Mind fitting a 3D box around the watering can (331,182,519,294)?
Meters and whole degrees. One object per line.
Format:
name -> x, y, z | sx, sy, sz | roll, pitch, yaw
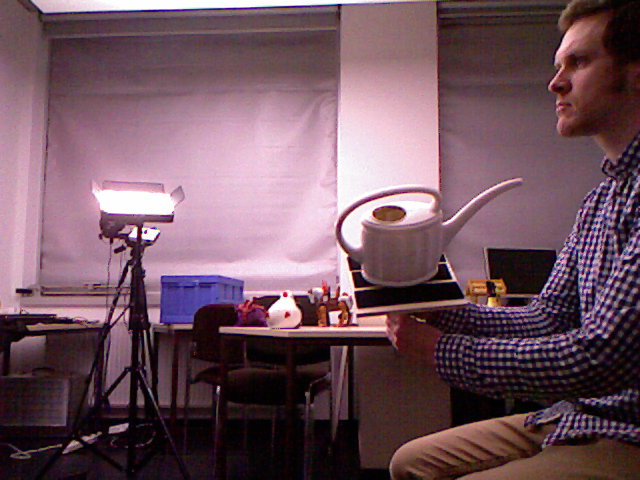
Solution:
watering can -> 0.193, -0.008, 0.968 | 0.349, 0.219, 0.107 | -6, 36, -4
